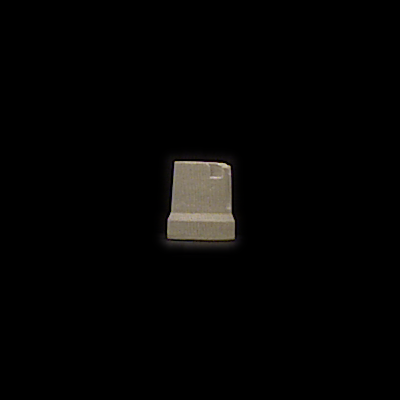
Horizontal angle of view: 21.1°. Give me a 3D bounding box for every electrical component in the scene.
[{"bbox_3d":[0.000,0.000,0.649,0.040,0.046,0.040,1,1,0],"label":"electrical component"}]
